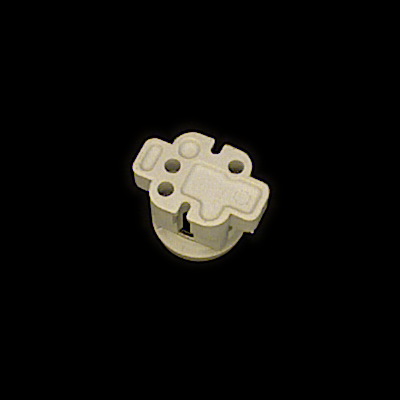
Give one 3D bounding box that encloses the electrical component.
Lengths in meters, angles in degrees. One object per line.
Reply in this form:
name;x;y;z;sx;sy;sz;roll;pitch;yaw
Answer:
electrical component;0.000;0.000;0.636;0.078;0.058;0.057;22;-25;9
